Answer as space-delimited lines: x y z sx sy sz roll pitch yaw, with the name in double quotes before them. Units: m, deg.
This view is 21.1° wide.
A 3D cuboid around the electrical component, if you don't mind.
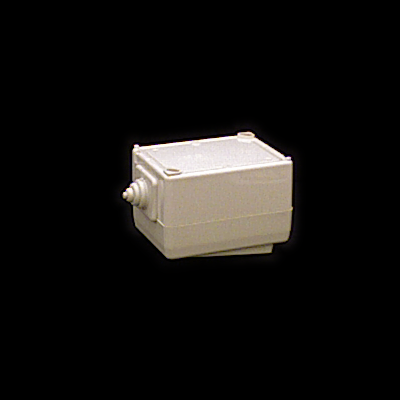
"electrical component" 0.000 0.000 0.641 0.096 0.061 0.061 -8 23 -21
